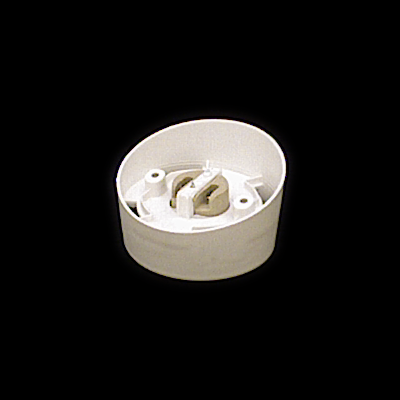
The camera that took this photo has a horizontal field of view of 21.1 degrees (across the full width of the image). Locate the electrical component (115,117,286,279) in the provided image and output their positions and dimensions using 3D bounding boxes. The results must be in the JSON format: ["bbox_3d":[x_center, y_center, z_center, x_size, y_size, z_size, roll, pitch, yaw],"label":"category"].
[{"bbox_3d":[0.000,0.000,0.634,0.099,0.065,0.097,1,30,0],"label":"electrical component"}]
